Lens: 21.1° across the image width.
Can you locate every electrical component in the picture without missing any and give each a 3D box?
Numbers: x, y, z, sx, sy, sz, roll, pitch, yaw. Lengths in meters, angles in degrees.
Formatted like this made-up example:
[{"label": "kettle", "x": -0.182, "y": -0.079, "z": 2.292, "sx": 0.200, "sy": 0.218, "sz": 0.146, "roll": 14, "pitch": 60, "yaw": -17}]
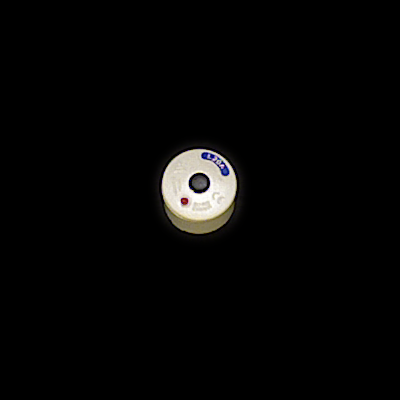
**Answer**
[{"label": "electrical component", "x": 0.000, "y": 0.000, "z": 0.616, "sx": 0.040, "sy": 0.040, "sz": 0.078, "roll": 0, "pitch": -16, "yaw": 0}]
